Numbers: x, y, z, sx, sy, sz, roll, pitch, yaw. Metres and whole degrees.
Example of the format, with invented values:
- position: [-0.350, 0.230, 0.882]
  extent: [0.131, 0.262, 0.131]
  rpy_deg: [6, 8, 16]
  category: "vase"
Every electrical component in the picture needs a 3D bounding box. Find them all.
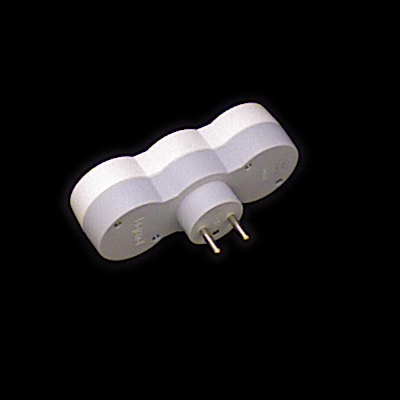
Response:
- position: [0.000, 0.000, 0.633]
  extent: [0.138, 0.073, 0.052]
  rpy_deg: [-24, -32, -19]
  category: "electrical component"
